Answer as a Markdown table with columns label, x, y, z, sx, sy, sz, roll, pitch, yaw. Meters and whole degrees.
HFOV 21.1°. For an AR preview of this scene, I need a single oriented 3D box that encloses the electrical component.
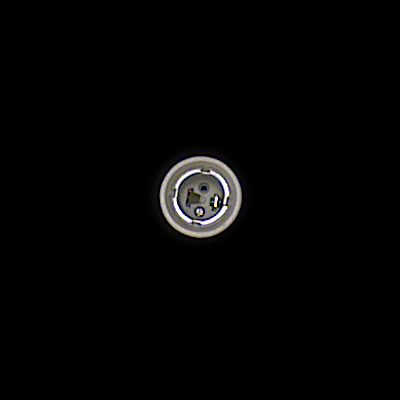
| label | x | y | z | sx | sy | sz | roll | pitch | yaw |
| --- | --- | --- | --- | --- | --- | --- | --- | --- | --- |
| electrical component | 0.000 | 0.000 | 0.625 | 0.044 | 0.044 | 0.065 | 0 | -5 | 0 |
